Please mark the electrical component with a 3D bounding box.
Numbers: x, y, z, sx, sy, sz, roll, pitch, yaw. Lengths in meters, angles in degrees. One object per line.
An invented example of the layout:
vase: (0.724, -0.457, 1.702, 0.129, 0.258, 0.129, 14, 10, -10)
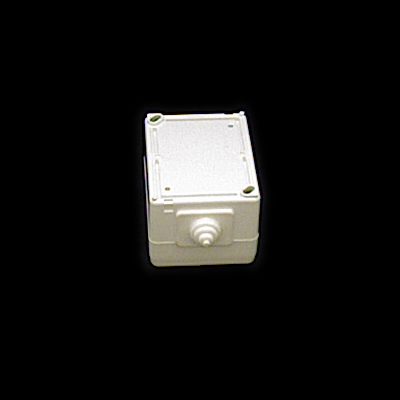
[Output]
electrical component: (-0.001, 0.000, 0.625, 0.062, 0.061, 0.096, -2, 41, -4)
